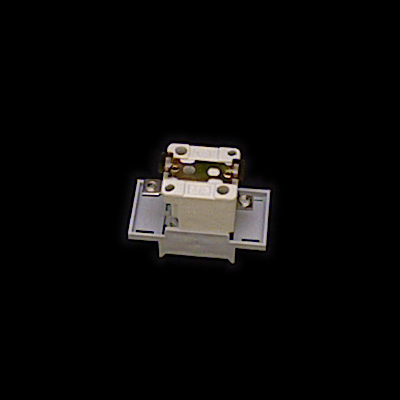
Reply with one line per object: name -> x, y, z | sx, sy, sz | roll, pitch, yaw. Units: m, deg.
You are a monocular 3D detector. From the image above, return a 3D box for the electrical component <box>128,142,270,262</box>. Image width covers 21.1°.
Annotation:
electrical component -> 0.000, 0.000, 0.628 | 0.081, 0.042, 0.064 | 4, -38, 3
